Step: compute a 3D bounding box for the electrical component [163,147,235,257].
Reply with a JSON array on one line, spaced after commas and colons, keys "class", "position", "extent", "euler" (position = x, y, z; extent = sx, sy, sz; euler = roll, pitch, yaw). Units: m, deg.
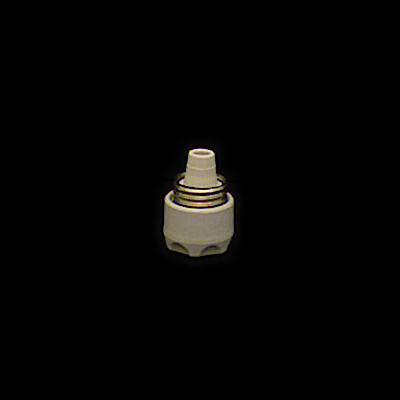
[{"class": "electrical component", "position": [0.000, 0.000, 0.646], "extent": [0.043, 0.063, 0.043], "euler": [2, 22, 0]}]
